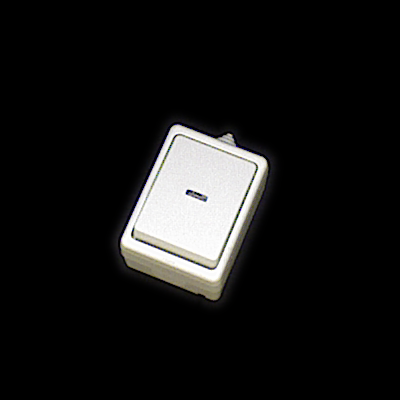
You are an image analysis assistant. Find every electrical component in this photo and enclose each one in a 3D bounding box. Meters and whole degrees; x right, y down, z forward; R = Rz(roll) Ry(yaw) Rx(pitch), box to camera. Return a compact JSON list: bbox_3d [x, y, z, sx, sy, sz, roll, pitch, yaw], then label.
[{"bbox_3d":[0.000,0.000,0.626,0.062,0.096,0.060,21,-16,6],"label":"electrical component"}]
